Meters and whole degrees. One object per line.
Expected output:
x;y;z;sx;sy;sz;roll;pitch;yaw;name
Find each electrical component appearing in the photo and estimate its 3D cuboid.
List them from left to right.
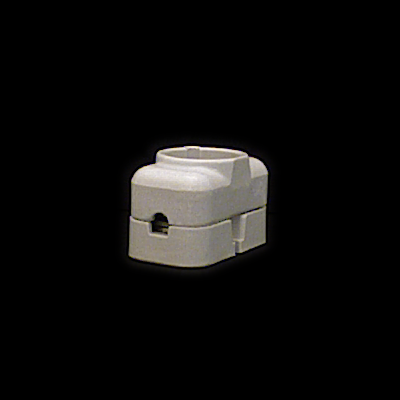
0.000;0.000;0.652;0.053;0.060;0.095;8;13;29;electrical component
